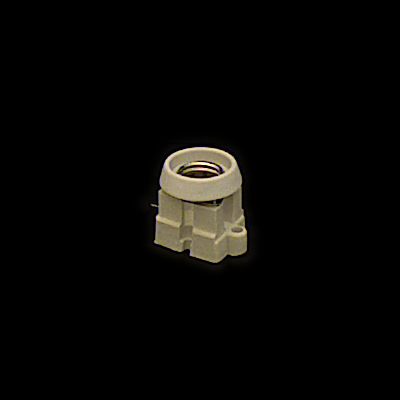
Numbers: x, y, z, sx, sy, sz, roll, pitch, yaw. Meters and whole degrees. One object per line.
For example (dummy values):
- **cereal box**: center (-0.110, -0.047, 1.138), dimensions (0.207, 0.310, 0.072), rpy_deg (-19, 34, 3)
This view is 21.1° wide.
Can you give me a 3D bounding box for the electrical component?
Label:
- **electrical component**: center (0.000, 0.000, 0.642), dimensions (0.066, 0.056, 0.048), rpy_deg (17, 34, 23)
